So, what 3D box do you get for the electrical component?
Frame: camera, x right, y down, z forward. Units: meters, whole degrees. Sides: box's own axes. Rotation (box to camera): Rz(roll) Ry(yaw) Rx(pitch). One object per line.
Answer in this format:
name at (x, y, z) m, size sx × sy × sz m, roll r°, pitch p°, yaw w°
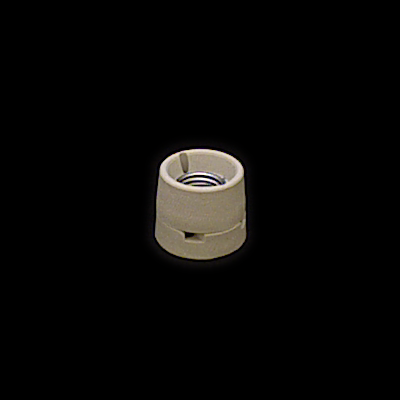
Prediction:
electrical component at (0.000, 0.000, 0.637) m, size 0.055 × 0.047 × 0.055 m, roll 1°, pitch 33°, yaw 0°
